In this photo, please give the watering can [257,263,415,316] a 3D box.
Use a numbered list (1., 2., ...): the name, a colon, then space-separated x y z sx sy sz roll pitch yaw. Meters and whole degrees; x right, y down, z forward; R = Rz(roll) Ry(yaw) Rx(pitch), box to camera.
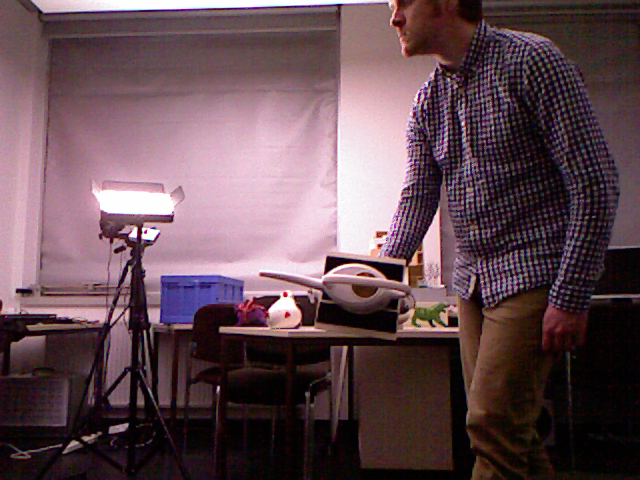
1. watering can: 0.044 0.108 1.201 0.349 0.106 0.222 5 -16 10
